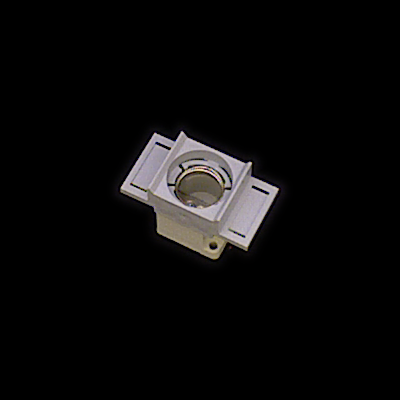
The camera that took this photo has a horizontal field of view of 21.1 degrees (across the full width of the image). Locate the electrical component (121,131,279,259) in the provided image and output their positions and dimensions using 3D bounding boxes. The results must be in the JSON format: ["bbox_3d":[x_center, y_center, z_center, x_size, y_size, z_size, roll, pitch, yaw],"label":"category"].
[{"bbox_3d":[0.000,0.000,0.624,0.081,0.042,0.063,25,-23,11],"label":"electrical component"}]
